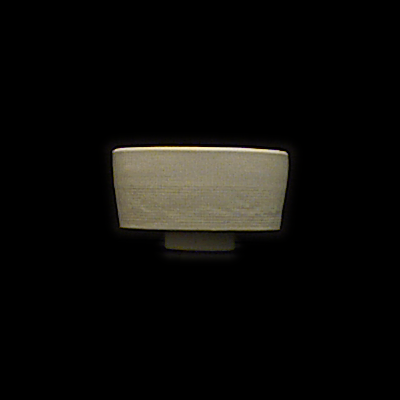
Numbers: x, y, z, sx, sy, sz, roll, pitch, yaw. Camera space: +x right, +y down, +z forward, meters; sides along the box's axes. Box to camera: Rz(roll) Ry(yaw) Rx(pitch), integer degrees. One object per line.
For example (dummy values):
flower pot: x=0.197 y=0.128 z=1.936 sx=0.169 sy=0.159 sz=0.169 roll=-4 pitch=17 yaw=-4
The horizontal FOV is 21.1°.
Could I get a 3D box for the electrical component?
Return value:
electrical component: x=0.000 y=0.000 z=0.659 sx=0.108 sy=0.060 sz=0.108 roll=1 pitch=1 yaw=0
